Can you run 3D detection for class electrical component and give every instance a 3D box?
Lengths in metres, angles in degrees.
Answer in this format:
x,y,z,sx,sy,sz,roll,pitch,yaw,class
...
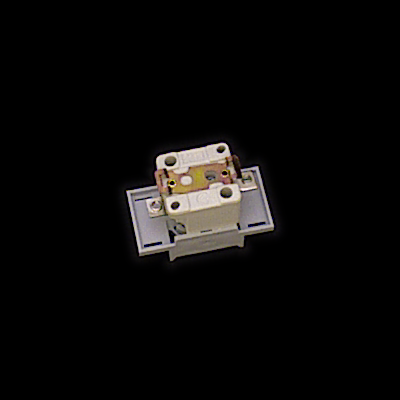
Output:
x,y,z,sx,sy,sz,roll,pitch,yaw,class
0.000,0.000,0.625,0.081,0.042,0.063,-11,-26,-6,electrical component
